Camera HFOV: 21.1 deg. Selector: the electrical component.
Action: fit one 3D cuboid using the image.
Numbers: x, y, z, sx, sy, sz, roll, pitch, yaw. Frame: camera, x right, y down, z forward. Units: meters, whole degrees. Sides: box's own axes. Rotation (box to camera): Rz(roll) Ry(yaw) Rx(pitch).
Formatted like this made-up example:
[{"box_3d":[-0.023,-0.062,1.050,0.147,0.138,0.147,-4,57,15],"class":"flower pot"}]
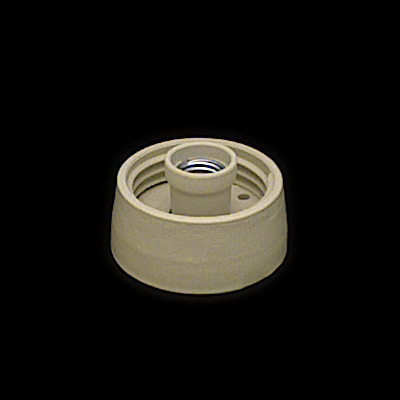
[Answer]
[{"box_3d":[0.000,0.000,0.641,0.108,0.061,0.106,1,32,0],"class":"electrical component"}]
